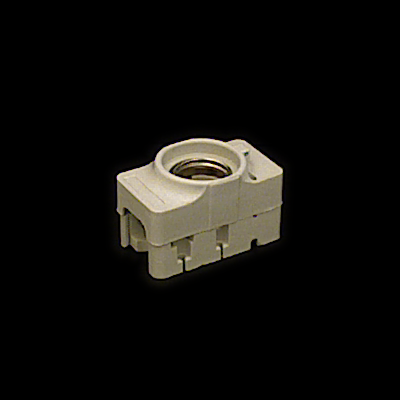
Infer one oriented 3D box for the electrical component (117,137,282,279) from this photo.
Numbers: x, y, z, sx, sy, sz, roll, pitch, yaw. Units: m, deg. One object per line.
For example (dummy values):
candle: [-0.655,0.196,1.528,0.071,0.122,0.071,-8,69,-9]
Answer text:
electrical component: [0.000,0.000,0.642,0.090,0.056,0.049,-18,37,-28]
